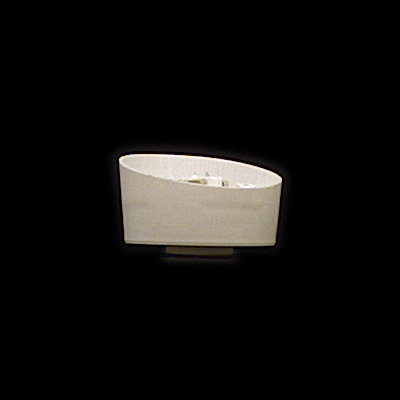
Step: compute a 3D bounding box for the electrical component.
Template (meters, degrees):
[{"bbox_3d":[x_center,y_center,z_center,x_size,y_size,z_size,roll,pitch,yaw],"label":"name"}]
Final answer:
[{"bbox_3d":[0.000,0.000,0.649,0.099,0.064,0.099,1,-1,0],"label":"electrical component"}]
